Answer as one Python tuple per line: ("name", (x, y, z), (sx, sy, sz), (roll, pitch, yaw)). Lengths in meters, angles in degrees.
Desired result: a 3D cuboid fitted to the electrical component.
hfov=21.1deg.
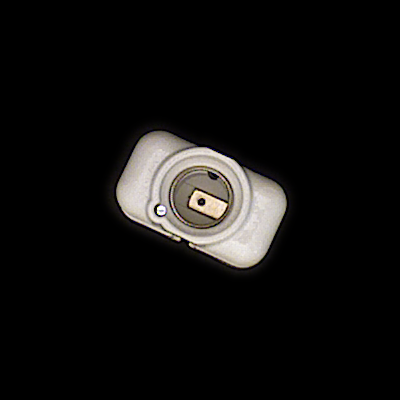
("electrical component", (0.000, 0.000, 0.635), (0.095, 0.054, 0.059), (24, -5, 3))
